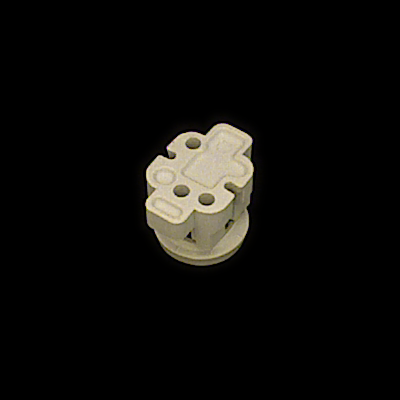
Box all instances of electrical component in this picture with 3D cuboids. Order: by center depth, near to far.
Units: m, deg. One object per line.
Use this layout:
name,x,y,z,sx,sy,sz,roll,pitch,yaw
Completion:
electrical component,0.000,0.000,0.638,0.057,0.079,0.057,27,-34,20
